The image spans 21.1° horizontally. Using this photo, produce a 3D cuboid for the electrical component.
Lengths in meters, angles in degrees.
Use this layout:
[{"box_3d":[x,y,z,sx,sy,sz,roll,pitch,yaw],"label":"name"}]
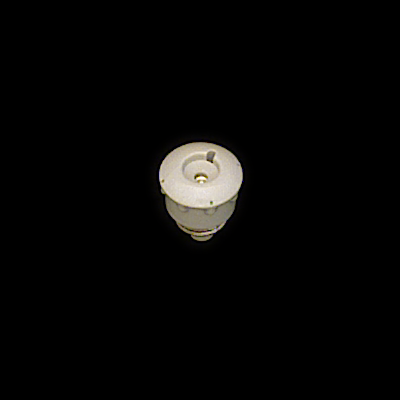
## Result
[{"box_3d":[0.000,0.000,0.636,0.048,0.048,0.062,0,-37,0],"label":"electrical component"}]
